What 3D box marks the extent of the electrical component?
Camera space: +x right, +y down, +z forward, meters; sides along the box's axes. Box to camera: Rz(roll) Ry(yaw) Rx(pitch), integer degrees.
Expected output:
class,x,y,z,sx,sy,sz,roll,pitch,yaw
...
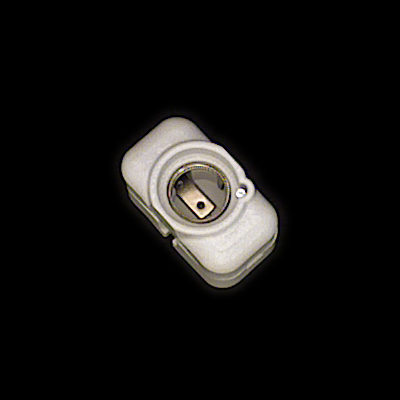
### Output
class,x,y,z,sx,sy,sz,roll,pitch,yaw
electrical component,0.000,0.000,0.634,0.054,0.095,0.059,-42,-11,-10
